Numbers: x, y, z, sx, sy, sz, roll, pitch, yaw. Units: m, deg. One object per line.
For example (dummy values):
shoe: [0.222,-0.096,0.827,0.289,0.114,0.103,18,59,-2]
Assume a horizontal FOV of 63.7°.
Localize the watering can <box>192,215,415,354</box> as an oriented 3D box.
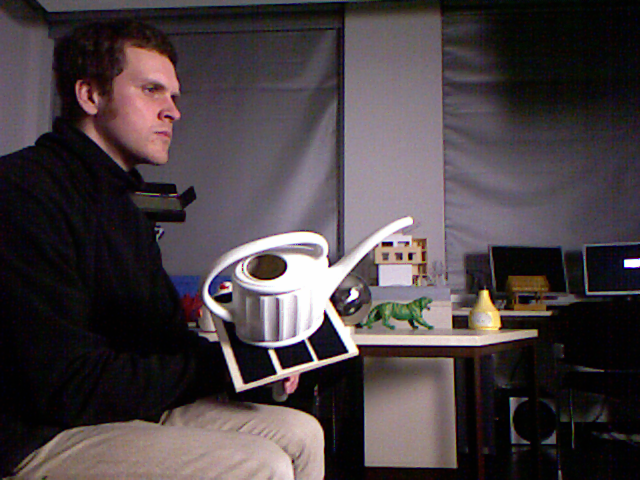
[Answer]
watering can: [-0.020,0.068,0.810,0.349,0.219,0.106,-11,45,-14]
